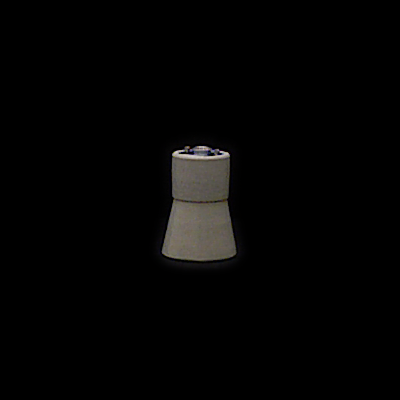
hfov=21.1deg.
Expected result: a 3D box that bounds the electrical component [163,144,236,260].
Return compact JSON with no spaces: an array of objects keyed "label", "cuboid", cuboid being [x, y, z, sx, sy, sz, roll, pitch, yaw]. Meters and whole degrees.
[{"label":"electrical component","cuboid":[0.000,0.000,0.642,0.044,0.066,0.044,1,12,0]}]
